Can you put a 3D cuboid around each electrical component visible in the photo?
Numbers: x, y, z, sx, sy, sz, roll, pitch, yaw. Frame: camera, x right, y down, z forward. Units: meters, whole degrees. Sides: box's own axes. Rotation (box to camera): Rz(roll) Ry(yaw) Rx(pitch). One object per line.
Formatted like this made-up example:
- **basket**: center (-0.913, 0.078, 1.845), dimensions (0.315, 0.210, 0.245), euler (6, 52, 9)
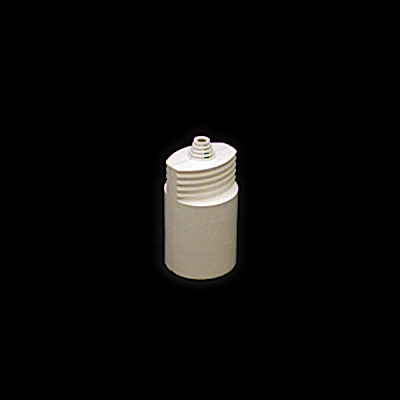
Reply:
- **electrical component**: center (0.000, 0.000, 0.629), dimensions (0.043, 0.082, 0.042), euler (1, 31, 0)
